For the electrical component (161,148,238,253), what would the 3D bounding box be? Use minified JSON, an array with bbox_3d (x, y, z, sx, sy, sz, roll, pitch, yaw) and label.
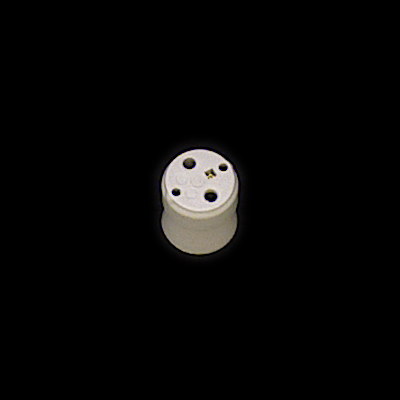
[{"bbox_3d":[0.000,0.000,0.628,0.045,0.045,0.055,0,-26,0],"label":"electrical component"}]
